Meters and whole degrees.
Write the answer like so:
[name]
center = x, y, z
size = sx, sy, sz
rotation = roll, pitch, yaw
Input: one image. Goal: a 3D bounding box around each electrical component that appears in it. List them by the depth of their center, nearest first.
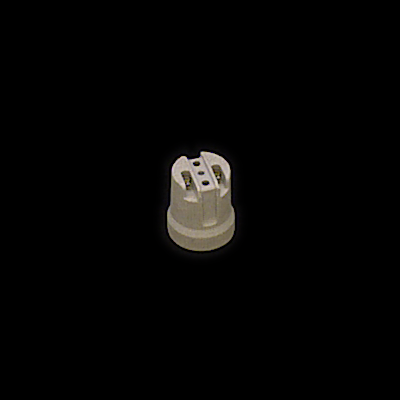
[electrical component]
center = 0.000, 0.000, 0.634
size = 0.040, 0.046, 0.040
rotation = 0, 42, 0
